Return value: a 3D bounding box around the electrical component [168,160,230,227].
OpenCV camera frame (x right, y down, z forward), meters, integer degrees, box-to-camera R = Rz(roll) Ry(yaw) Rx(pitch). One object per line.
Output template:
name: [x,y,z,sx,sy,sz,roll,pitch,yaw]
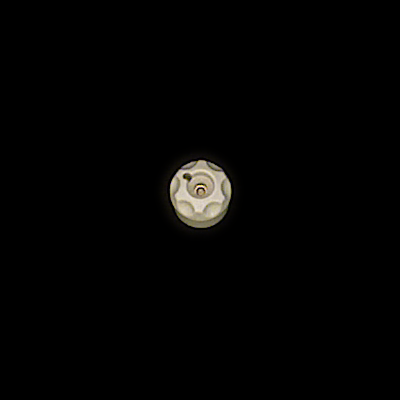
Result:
electrical component: [0.000,0.000,0.634,0.035,0.035,0.061,0,-16,1]
